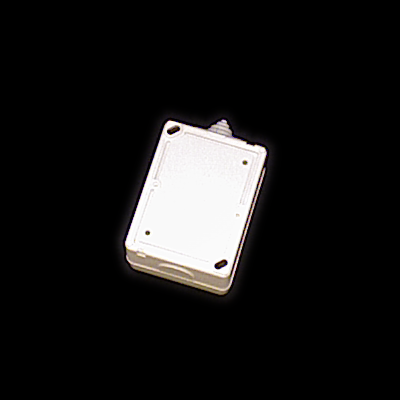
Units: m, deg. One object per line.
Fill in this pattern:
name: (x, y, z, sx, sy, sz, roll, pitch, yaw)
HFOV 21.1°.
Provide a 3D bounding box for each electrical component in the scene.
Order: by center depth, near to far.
electrical component: (0.000, 0.000, 0.628, 0.062, 0.097, 0.060, 16, -17, 5)
